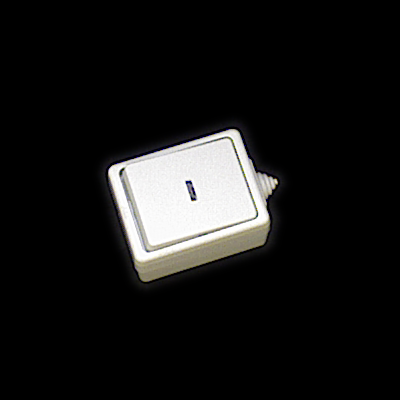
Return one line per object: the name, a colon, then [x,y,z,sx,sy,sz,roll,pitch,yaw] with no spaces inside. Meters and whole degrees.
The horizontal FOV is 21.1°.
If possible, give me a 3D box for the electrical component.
electrical component: [0.000,0.000,0.626,0.096,0.062,0.060,-17,-16,-5]
